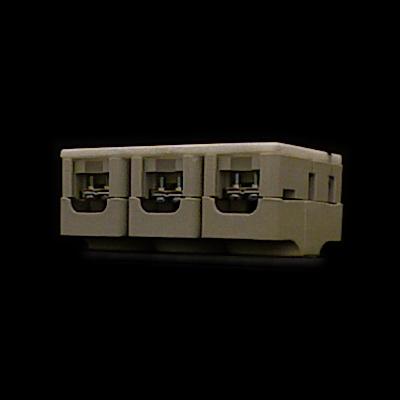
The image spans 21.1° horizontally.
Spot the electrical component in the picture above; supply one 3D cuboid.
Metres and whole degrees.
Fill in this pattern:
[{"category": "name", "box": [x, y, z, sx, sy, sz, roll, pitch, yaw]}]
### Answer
[{"category": "electrical component", "box": [0.000, 0.000, 0.657, 0.150, 0.062, 0.089, 1, 0, 31]}]
